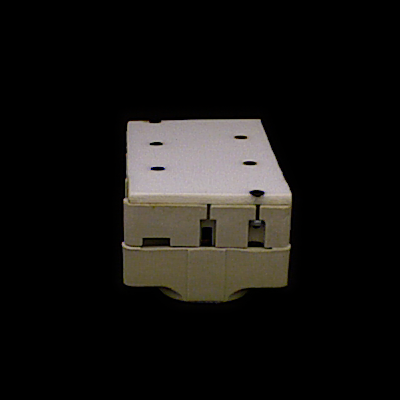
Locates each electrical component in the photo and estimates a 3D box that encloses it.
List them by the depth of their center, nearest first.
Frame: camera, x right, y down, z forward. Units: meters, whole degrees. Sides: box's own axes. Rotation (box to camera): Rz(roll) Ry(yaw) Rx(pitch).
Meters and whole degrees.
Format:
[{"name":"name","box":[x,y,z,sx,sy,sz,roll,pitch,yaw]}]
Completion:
[{"name":"electrical component","box":[0.000,0.000,0.643,0.089,0.063,0.147,-1,21,-3]}]
